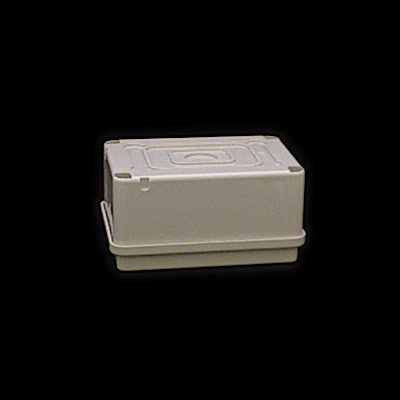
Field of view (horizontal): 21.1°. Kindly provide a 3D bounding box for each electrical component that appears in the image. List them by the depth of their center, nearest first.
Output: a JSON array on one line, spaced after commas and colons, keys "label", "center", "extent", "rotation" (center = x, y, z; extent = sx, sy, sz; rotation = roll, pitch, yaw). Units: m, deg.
[{"label": "electrical component", "center": [0.000, 0.000, 0.639], "extent": [0.113, 0.058, 0.077], "rotation": [-2, 21, -9]}]
